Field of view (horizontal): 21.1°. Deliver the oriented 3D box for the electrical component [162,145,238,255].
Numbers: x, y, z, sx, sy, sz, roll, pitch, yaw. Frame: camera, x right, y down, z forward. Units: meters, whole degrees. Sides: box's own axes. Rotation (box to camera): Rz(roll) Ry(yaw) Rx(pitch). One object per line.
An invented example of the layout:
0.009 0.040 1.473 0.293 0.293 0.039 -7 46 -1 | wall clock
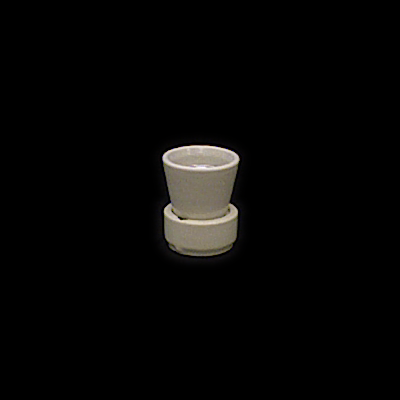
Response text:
0.000 0.000 0.639 0.045 0.056 0.044 1 21 0 | electrical component
